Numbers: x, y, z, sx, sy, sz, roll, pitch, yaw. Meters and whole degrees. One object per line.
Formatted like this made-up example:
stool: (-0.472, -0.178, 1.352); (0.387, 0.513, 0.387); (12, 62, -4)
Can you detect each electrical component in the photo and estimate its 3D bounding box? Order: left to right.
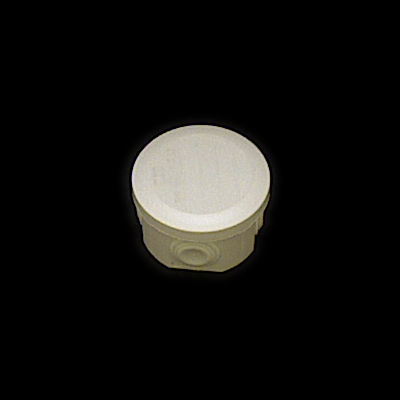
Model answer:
electrical component: (0.000, 0.000, 0.633); (0.080, 0.080, 0.051); (0, -38, -1)
